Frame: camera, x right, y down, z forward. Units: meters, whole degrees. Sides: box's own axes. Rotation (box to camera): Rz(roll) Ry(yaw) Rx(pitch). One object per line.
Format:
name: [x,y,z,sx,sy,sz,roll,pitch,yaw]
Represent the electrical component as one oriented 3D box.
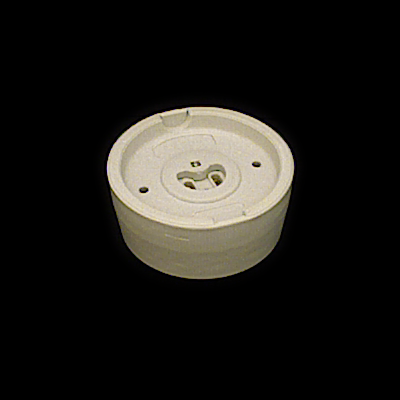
electrical component: [0.000,0.000,0.639,0.108,0.061,0.106,1,43,0]
